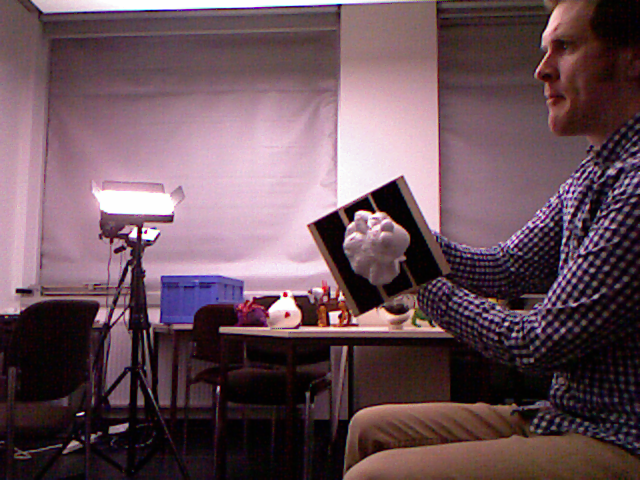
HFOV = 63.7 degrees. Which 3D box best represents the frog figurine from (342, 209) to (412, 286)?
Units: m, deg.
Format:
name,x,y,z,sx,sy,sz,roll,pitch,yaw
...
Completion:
name,x,y,z,sx,sy,sz,roll,pitch,yaw
frog figurine,0.097,0.014,0.892,0.123,0.137,0.160,-7,3,8
